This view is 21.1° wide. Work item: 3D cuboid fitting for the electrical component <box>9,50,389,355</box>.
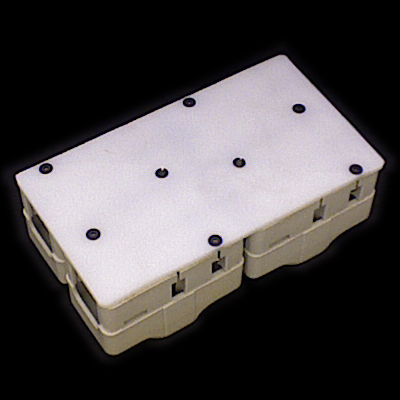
[{"bbox_3d":[0.000,0.000,0.627,0.186,0.105,0.060,-26,-33,-19],"label":"electrical component"}]
